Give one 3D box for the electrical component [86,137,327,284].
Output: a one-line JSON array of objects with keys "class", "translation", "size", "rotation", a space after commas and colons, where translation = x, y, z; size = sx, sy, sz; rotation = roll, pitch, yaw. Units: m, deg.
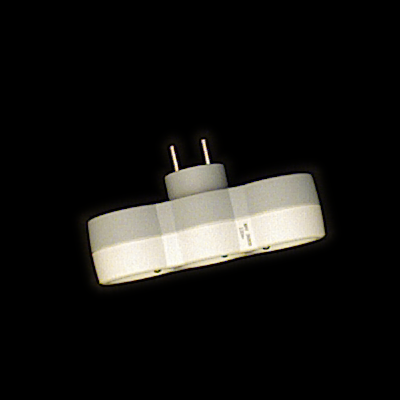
[{"class": "electrical component", "translation": [0.000, 0.000, 0.640], "size": [0.138, 0.074, 0.052], "rotation": [-12, -7, -1]}]
